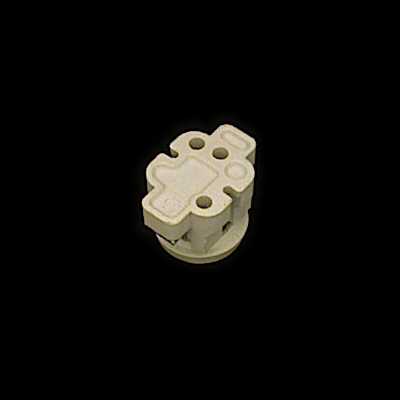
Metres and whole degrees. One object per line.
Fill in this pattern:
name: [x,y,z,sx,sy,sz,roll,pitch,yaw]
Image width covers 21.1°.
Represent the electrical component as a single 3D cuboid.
electrical component: [0.000,0.000,0.635,0.057,0.079,0.057,33,-29,21]
